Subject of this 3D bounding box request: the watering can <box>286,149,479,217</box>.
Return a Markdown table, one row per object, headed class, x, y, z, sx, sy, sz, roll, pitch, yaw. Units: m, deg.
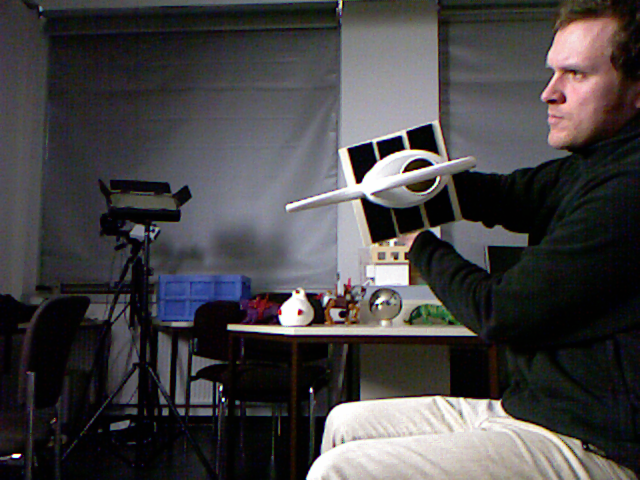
| class | x | y | z | sx | sy | sz | roll | pitch | yaw |
| --- | --- | --- | --- | --- | --- | --- | --- | --- | --- |
| watering can | 0.112 | -0.103 | 0.956 | 0.349 | 0.104 | 0.226 | -13 | 4 | 2 |
